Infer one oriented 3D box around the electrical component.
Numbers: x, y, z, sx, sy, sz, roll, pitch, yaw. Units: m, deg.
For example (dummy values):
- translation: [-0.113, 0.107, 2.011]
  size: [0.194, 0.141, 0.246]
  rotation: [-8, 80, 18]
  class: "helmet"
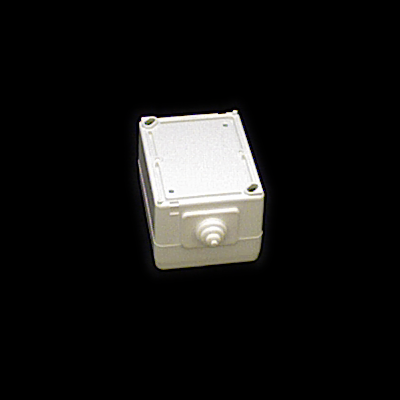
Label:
- translation: [0.000, 0.000, 0.625]
  size: [0.062, 0.061, 0.096]
  rotation: [-5, 42, -8]
  class: "electrical component"
